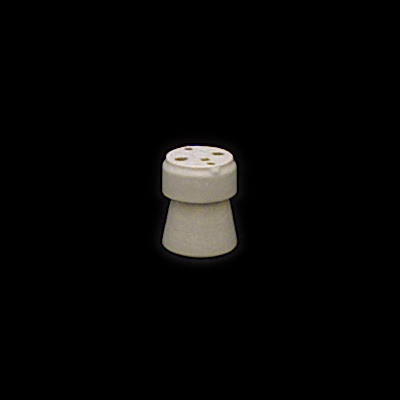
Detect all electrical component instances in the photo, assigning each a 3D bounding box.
[{"bbox_3d":[0.000,0.000,0.639,0.045,0.056,0.044,1,21,0],"label":"electrical component"}]
